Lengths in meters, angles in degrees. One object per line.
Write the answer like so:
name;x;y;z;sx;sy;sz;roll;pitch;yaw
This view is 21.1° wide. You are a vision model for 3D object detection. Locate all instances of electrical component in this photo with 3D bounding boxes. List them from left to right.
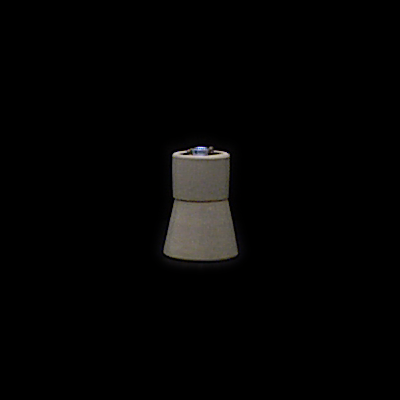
electrical component;0.000;0.000;0.646;0.044;0.066;0.044;0;11;0
